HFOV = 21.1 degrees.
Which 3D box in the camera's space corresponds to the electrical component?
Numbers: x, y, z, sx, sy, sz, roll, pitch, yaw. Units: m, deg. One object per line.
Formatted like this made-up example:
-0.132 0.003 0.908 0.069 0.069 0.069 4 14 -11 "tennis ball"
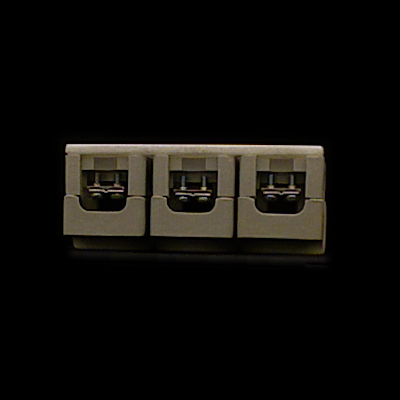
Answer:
0.000 0.000 0.659 0.150 0.062 0.089 2 0 7 "electrical component"
